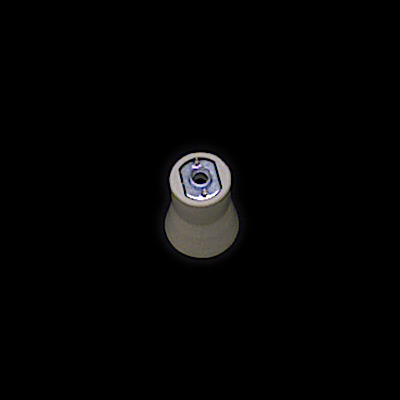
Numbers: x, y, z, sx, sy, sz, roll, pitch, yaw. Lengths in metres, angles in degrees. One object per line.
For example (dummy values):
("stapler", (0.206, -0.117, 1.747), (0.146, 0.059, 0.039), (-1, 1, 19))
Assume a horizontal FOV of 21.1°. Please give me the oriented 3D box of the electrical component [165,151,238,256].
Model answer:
("electrical component", (0.000, 0.000, 0.625), (0.044, 0.044, 0.065), (0, -27, 1))
